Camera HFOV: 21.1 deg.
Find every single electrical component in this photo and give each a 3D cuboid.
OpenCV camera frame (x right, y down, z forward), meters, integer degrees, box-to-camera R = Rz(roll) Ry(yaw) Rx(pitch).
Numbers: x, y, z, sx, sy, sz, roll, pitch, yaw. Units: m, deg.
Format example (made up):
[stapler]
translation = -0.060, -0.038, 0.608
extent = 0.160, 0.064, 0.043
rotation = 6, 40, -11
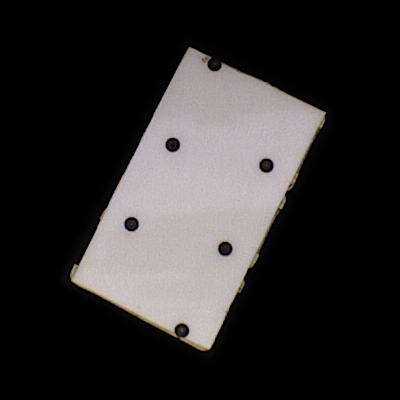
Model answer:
[electrical component]
translation = 0.000, 0.000, 0.630
extent = 0.089, 0.150, 0.061
rotation = 27, -5, 3
